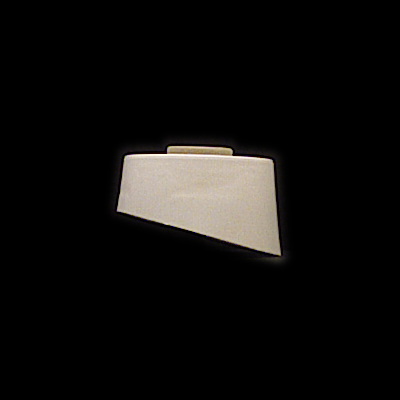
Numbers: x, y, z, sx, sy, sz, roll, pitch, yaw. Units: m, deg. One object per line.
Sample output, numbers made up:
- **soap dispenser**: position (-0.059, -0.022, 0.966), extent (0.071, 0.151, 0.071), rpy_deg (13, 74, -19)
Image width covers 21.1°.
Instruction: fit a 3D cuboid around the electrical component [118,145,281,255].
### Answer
- **electrical component**: position (0.000, 0.000, 0.648), extent (0.099, 0.064, 0.099), rpy_deg (2, 0, 0)
